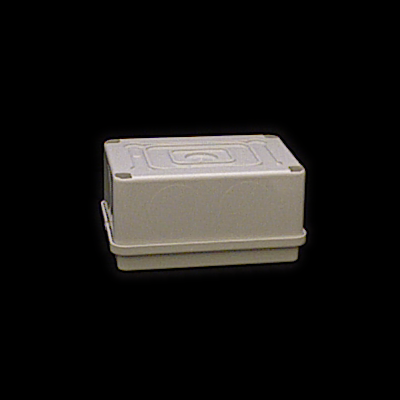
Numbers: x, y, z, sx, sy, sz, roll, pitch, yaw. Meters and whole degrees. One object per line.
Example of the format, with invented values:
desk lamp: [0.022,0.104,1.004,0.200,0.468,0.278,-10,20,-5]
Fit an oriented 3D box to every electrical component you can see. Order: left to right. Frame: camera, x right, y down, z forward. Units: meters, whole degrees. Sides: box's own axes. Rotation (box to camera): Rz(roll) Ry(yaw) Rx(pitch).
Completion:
electrical component: [0.000,0.000,0.639,0.113,0.058,0.077,-3,21,-9]
